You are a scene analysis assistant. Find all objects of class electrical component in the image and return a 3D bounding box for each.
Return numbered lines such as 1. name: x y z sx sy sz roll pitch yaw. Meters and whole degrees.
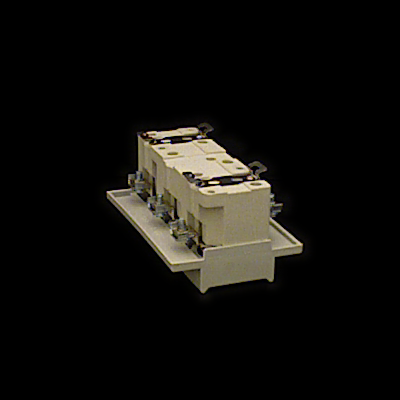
1. electrical component: 0.000 0.000 0.643 0.079 0.064 0.119 -8 23 -21
